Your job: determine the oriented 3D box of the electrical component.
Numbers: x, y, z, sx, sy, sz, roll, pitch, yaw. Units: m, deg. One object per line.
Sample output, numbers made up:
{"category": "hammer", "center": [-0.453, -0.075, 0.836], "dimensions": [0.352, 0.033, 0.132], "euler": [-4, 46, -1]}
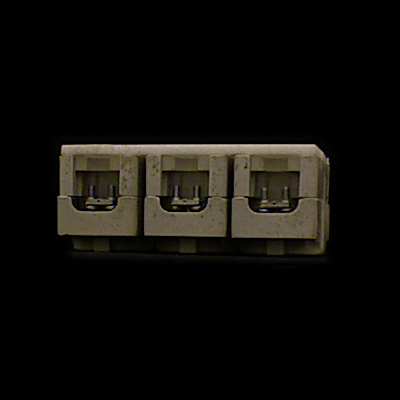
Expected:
{"category": "electrical component", "center": [0.000, 0.000, 0.655], "dimensions": [0.150, 0.062, 0.090], "euler": [1, -1, 11]}
